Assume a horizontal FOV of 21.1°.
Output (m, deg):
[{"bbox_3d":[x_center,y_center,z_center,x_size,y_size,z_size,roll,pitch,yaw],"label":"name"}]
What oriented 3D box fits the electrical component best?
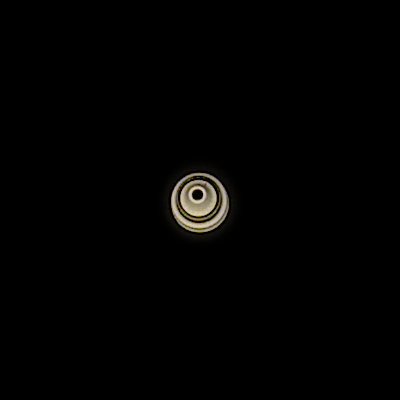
[{"bbox_3d":[0.000,0.000,0.637,0.035,0.035,0.061,0,-7,1],"label":"electrical component"}]
